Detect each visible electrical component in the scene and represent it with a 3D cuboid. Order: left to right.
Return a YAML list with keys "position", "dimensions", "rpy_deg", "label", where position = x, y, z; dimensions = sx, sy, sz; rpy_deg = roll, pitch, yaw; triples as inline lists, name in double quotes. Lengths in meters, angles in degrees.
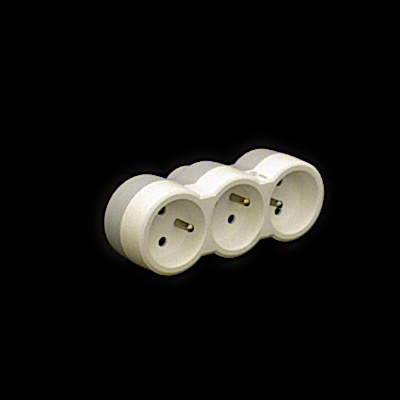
- position: [0.000, 0.000, 0.650]
  dimensions: [0.139, 0.053, 0.072]
  rpy_deg: [-14, 25, -34]
  label: "electrical component"
